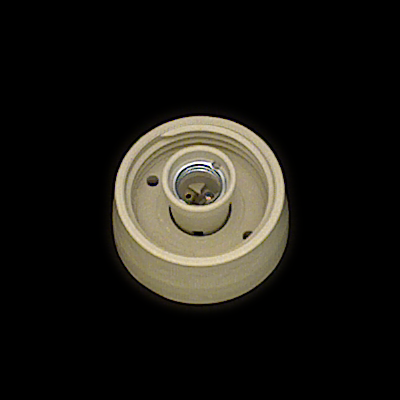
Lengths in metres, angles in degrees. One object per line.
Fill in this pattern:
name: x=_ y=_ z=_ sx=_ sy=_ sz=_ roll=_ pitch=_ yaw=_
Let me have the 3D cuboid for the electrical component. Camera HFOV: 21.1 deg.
electrical component: x=0.000 y=0.000 z=0.634 sx=0.108 sy=0.108 sz=0.060 roll=0 pitch=-27 yaw=0
